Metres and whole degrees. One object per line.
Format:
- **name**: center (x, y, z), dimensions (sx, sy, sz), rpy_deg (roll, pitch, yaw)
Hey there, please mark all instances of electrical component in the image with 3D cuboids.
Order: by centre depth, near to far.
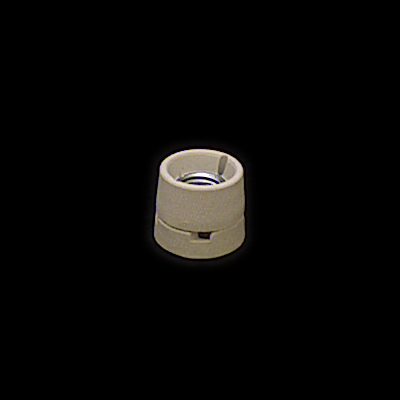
- **electrical component**: center (0.000, 0.000, 0.639), dimensions (0.055, 0.047, 0.055), rpy_deg (2, 31, -1)
